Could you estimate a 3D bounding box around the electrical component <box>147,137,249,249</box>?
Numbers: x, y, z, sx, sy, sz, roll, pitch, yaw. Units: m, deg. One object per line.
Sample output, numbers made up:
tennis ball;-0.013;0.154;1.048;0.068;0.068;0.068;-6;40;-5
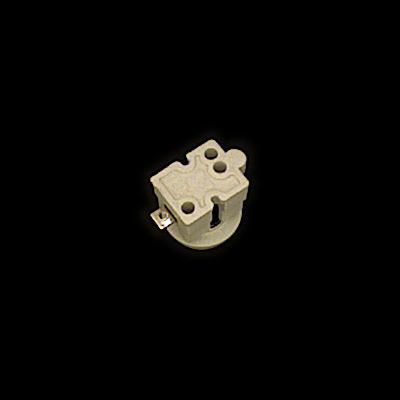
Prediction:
electrical component;0.000;0.000;0.638;0.067;0.048;0.055;-33;-21;-14
